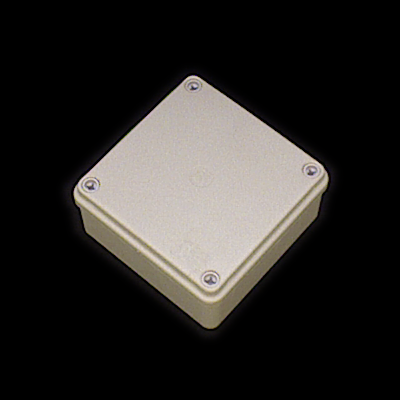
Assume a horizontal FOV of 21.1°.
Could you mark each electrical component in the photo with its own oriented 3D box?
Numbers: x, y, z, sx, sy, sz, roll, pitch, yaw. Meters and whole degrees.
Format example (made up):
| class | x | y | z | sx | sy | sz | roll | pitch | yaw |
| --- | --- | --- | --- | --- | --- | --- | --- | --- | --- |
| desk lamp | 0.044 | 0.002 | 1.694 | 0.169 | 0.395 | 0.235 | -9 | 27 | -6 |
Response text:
| class | x | y | z | sx | sy | sz | roll | pitch | yaw |
| --- | --- | --- | --- | --- | --- | --- | --- | --- | --- |
| electrical component | 0.000 | 0.000 | 0.630 | 0.108 | 0.109 | 0.056 | 37 | -22 | 17 |
